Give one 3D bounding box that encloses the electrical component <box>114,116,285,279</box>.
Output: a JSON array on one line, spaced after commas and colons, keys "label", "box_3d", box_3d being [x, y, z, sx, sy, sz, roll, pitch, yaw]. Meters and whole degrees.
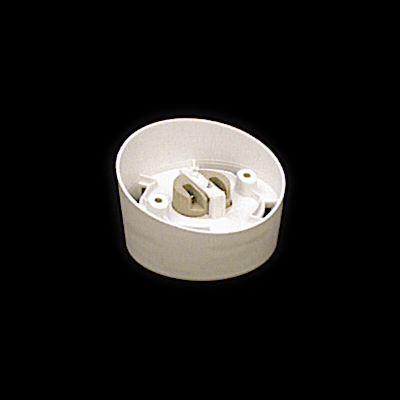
[{"label": "electrical component", "box_3d": [0.000, 0.000, 0.633, 0.099, 0.065, 0.097, 0, 31, 0]}]
